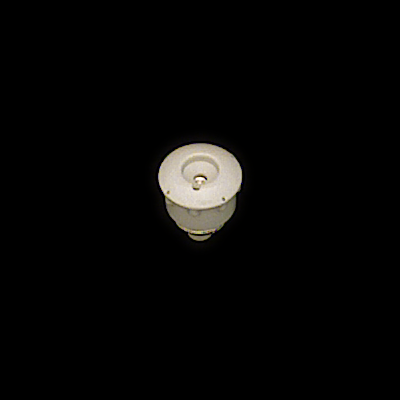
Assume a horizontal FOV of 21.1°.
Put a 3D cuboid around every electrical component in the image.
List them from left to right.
[{"bbox_3d":[0.000,0.000,0.635,0.048,0.048,0.062,0,-37,0],"label":"electrical component"}]
